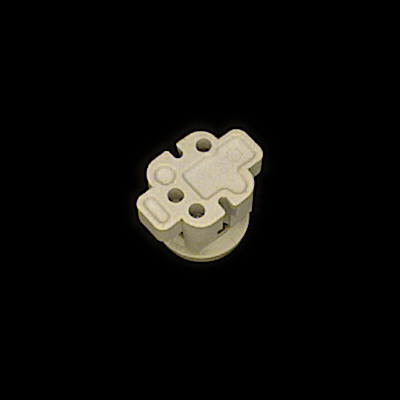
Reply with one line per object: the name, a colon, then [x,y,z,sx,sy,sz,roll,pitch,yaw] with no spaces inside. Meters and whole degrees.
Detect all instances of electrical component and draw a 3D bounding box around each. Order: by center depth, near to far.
electrical component: [0.000,0.000,0.636,0.079,0.057,0.057,-37,-22,-18]
